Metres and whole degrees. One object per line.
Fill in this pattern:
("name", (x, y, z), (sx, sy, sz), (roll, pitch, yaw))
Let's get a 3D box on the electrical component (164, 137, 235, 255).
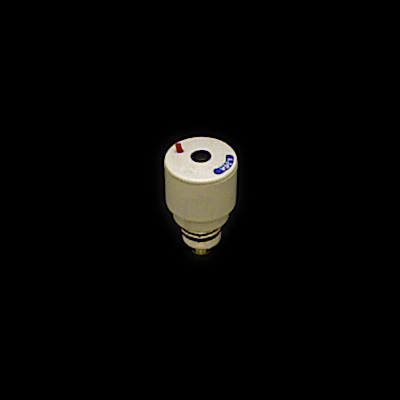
("electrical component", (0.000, 0.000, 0.625), (0.040, 0.079, 0.039), (0, 41, 0))
